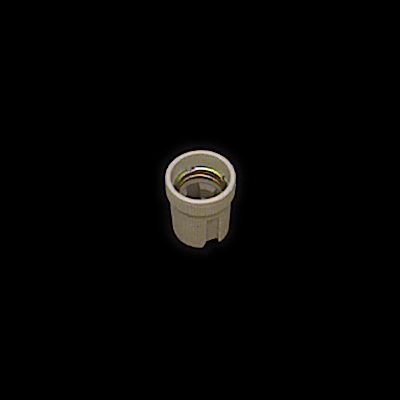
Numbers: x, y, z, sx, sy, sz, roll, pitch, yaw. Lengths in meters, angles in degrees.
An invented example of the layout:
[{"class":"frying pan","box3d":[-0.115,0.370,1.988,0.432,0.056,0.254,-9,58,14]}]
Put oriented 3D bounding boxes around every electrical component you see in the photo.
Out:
[{"class":"electrical component","box3d":[0.000,0.000,0.632,0.040,0.039,0.047,0,-38,-1]}]
